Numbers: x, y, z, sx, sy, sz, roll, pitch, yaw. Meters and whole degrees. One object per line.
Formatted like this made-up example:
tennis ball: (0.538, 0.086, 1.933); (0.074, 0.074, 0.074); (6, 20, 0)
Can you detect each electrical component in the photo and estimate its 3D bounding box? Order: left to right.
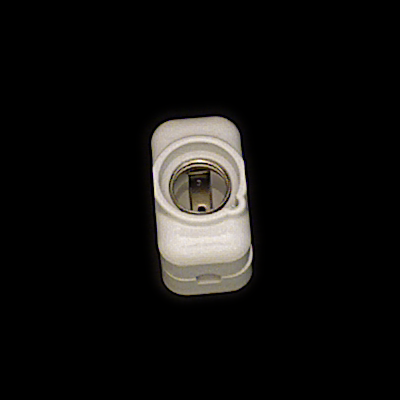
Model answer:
electrical component: (0.000, 0.000, 0.634); (0.054, 0.095, 0.059); (-5, -26, -2)
